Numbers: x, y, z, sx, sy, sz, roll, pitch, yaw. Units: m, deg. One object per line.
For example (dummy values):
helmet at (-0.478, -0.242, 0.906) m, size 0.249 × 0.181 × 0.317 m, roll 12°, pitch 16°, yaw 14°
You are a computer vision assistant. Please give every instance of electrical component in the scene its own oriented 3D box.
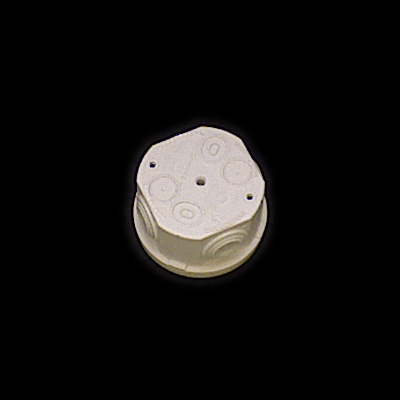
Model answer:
electrical component at (0.000, 0.000, 0.631) m, size 0.080 × 0.080 × 0.050 m, roll 0°, pitch -27°, yaw -1°
